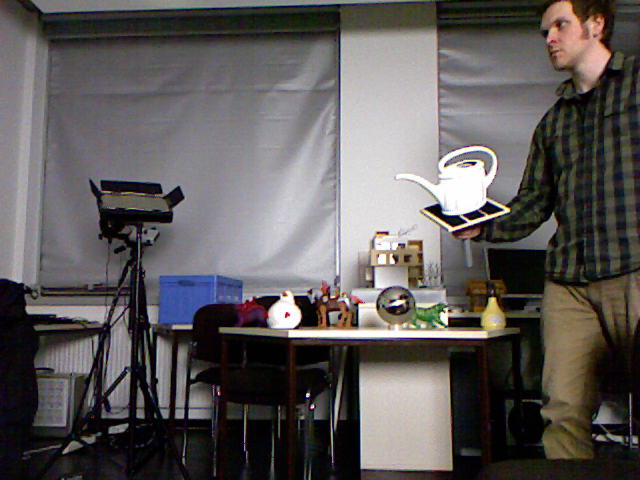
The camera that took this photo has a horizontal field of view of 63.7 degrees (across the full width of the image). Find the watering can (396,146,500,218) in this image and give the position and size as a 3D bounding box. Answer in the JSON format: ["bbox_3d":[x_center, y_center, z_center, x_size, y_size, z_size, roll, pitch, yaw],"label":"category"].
[{"bbox_3d":[0.408,-0.168,1.613,0.349,0.220,0.106,-19,28,-9],"label":"watering can"}]
